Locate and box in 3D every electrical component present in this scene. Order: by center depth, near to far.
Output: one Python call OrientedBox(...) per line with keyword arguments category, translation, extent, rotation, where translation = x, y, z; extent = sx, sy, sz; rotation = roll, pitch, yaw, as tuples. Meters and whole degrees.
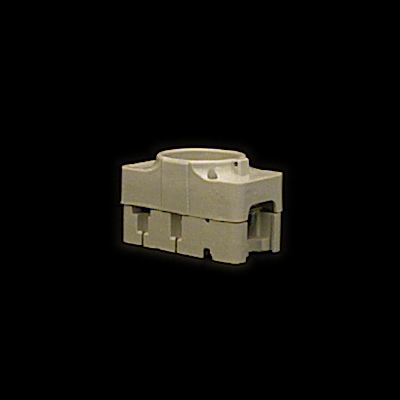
OrientedBox(category="electrical component", translation=(0.000, 0.000, 0.651), extent=(0.088, 0.056, 0.050), rotation=(9, 14, 35))
